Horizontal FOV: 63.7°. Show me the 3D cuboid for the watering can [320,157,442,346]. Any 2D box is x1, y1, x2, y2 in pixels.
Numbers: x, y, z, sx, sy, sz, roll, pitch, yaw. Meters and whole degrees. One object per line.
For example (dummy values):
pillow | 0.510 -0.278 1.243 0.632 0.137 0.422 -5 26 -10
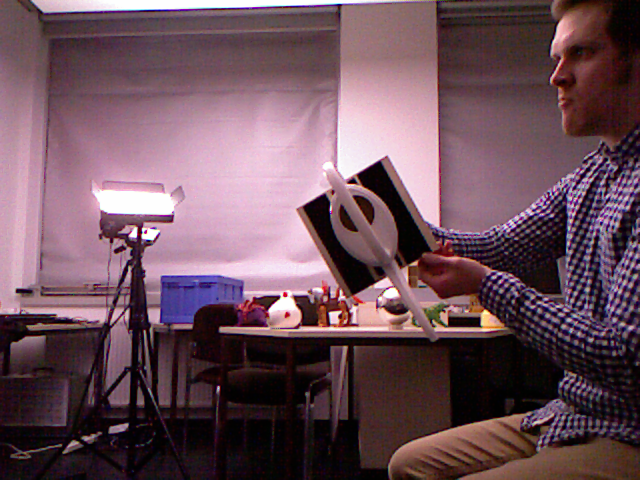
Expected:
watering can | 0.102 0.009 0.896 0.104 0.349 0.226 -31 0 11
